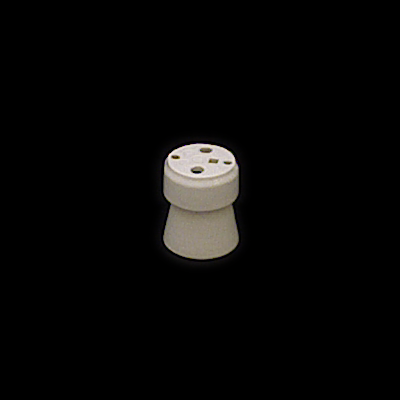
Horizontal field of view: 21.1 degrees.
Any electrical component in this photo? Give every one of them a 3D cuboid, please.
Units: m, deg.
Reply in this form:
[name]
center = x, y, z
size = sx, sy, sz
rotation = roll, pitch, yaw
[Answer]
[electrical component]
center = 0.000, 0.000, 0.634
size = 0.045, 0.056, 0.044
rotation = 0, 32, 0
